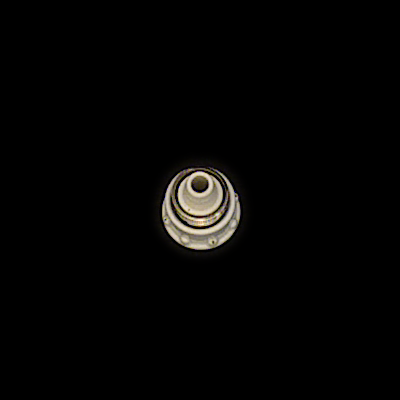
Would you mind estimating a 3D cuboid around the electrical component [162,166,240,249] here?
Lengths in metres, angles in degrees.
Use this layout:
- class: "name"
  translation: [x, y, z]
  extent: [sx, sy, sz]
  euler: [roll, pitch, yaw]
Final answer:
- class: "electrical component"
  translation: [0.000, 0.000, 0.634]
  extent: [0.048, 0.048, 0.061]
  euler: [0, -17, 0]
